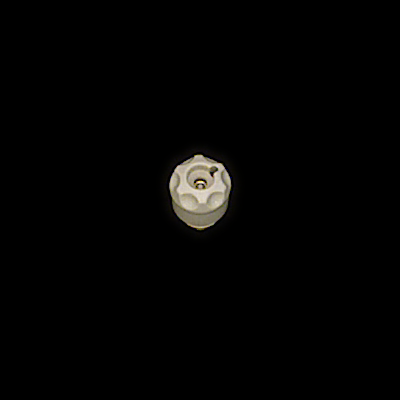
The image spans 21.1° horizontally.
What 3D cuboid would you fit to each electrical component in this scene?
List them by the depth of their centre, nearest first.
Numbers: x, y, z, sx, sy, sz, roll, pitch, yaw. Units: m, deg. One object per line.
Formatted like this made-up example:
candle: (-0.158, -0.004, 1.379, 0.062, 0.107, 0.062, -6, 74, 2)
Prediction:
electrical component: (0.000, 0.000, 0.634, 0.035, 0.035, 0.061, 0, -26, 0)
